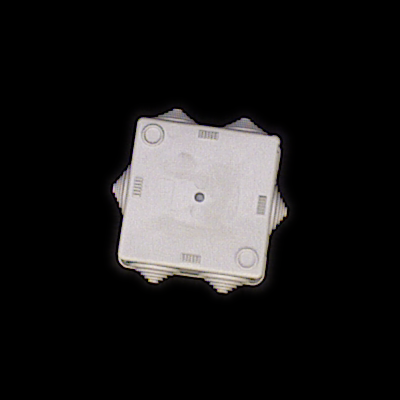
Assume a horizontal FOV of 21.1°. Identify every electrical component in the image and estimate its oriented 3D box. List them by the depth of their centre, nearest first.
[{"bbox_3d":[0.000,0.000,0.632,0.100,0.100,0.048,8,-6,1],"label":"electrical component"}]
